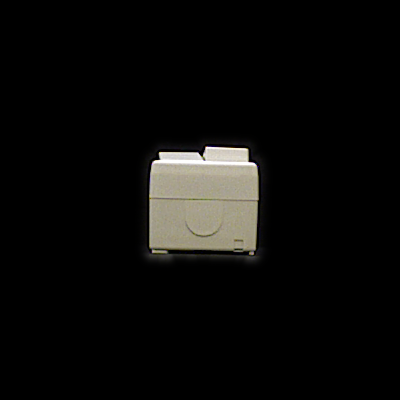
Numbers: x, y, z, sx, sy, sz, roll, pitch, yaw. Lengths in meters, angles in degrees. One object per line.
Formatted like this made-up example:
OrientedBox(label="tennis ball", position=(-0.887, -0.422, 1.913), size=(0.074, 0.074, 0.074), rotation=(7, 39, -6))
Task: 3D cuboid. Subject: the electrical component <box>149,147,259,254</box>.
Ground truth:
OrientedBox(label="electrical component", position=(0.000, 0.000, 0.652), size=(0.062, 0.061, 0.096), rotation=(1, 0, -3))
